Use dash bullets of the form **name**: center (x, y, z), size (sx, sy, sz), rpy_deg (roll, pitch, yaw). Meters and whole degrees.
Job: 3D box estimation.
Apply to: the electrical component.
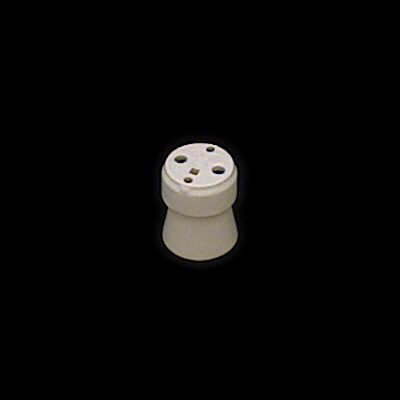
- **electrical component**: center (0.000, 0.000, 0.633), size (0.045, 0.055, 0.044), rpy_deg (1, 42, 0)
